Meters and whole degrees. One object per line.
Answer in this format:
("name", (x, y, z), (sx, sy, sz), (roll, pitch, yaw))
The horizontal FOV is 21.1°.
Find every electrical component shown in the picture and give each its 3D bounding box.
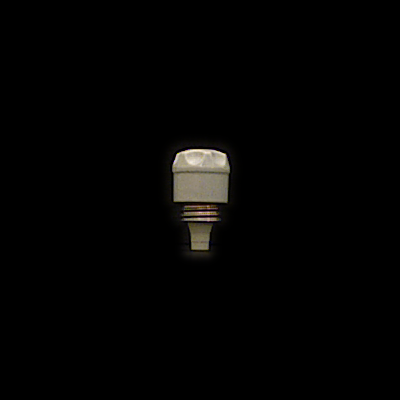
("electrical component", (0.000, 0.000, 0.658), (0.035, 0.061, 0.035), (1, 1, 1))
